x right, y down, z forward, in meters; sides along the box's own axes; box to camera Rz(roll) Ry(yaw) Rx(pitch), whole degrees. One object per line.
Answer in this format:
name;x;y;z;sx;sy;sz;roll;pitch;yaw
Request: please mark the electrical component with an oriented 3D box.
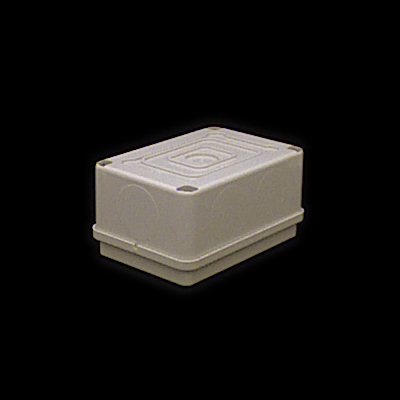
electrical component;0.000;0.000;0.639;0.077;0.058;0.113;18;27;37
